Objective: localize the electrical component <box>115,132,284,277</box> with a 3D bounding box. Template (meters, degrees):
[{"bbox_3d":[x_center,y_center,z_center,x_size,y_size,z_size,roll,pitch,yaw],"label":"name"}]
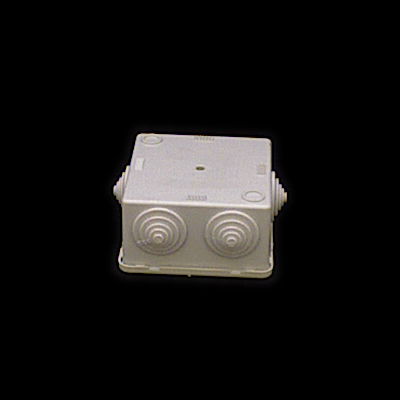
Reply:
[{"bbox_3d":[0.000,0.000,0.637,0.100,0.049,0.098,2,32,2],"label":"electrical component"}]
